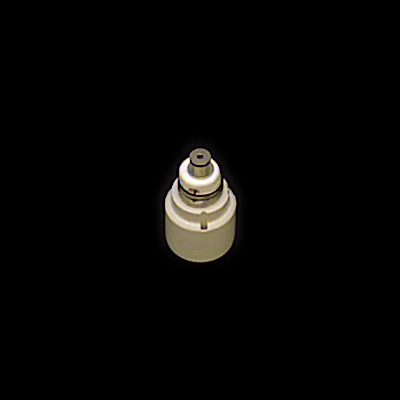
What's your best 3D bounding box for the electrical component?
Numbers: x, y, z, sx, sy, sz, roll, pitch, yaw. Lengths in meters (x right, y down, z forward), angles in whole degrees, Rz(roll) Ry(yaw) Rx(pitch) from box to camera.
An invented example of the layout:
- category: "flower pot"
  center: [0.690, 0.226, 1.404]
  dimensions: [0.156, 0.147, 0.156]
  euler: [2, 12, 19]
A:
- category: "electrical component"
  center: [0.000, 0.000, 0.620]
  dimensions: [0.040, 0.040, 0.078]
  euler: [0, -39, 0]
